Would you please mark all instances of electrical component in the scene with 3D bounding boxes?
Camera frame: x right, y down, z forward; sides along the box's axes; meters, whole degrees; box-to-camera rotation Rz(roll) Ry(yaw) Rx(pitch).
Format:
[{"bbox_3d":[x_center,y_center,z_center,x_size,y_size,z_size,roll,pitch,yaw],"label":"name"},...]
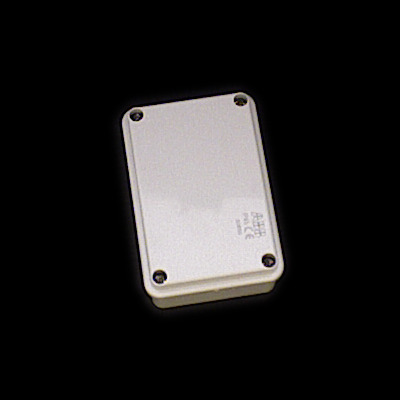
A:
[{"bbox_3d":[0.000,0.000,0.627,0.078,0.113,0.057,-8,-17,-2],"label":"electrical component"}]
